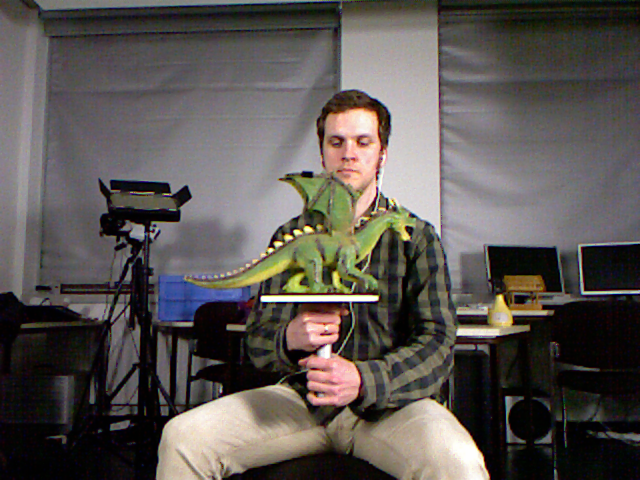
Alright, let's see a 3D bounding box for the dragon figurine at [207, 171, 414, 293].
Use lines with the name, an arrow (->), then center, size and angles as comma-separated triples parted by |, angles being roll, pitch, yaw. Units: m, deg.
dragon figurine -> -0.013, -0.015, 1.015 | 0.411, 0.244, 0.122 | 1, -5, -6
